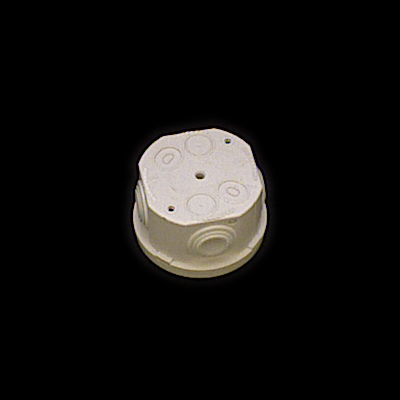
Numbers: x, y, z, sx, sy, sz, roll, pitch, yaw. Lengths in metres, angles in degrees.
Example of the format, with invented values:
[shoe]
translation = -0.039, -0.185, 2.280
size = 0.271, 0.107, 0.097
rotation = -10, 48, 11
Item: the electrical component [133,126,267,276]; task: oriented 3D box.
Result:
[electrical component]
translation = 0.000, 0.000, 0.631
size = 0.080, 0.080, 0.051
rotation = 0, -37, 0
